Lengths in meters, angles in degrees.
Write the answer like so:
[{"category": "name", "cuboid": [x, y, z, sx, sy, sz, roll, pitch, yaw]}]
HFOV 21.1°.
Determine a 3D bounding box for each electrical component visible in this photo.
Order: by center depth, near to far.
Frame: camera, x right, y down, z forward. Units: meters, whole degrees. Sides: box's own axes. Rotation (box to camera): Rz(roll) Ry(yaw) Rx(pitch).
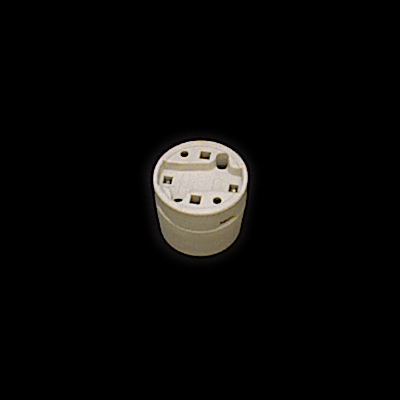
[{"category": "electrical component", "cuboid": [0.000, 0.000, 0.634, 0.055, 0.055, 0.047, 0, -38, -1]}]
